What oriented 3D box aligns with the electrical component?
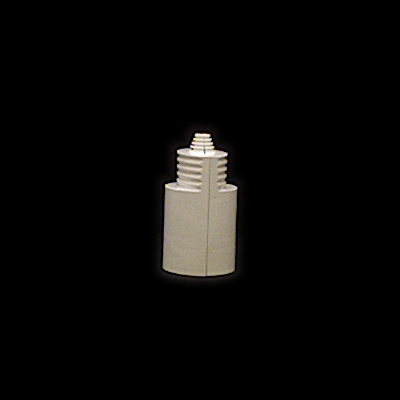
[{"bbox_3d":[0.000,0.000,0.641,0.043,0.081,0.043,1,11,0],"label":"electrical component"}]
